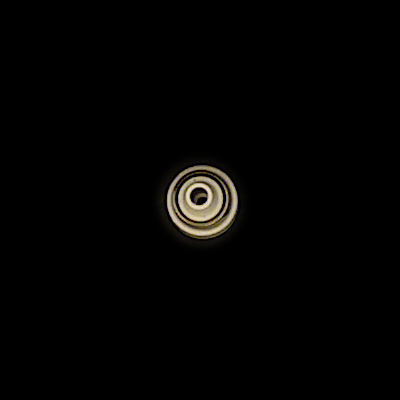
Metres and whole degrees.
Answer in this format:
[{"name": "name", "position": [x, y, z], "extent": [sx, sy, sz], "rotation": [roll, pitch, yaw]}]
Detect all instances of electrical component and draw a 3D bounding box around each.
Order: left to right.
[{"name": "electrical component", "position": [0.000, 0.000, 0.635], "extent": [0.043, 0.043, 0.062], "rotation": [0, -5, 2]}]
